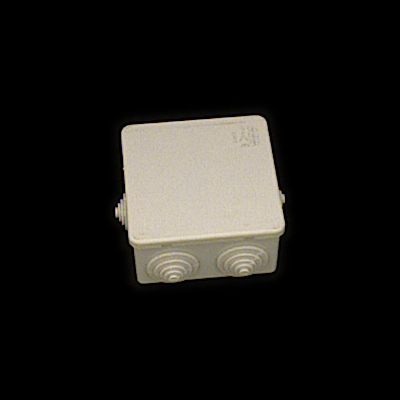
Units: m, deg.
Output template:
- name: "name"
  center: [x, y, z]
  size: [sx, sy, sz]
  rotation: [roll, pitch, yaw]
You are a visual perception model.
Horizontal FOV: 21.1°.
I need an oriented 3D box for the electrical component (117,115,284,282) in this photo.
- name: "electrical component"
  center: [0.000, 0.000, 0.641]
  size: [0.100, 0.099, 0.049]
  rotation: [-4, -37, -4]
